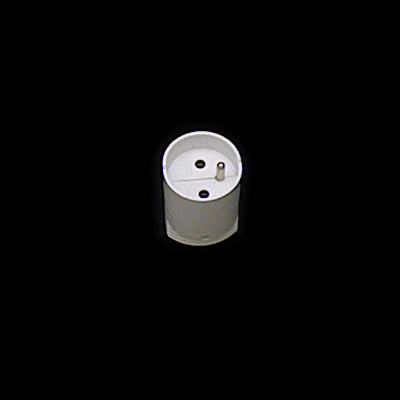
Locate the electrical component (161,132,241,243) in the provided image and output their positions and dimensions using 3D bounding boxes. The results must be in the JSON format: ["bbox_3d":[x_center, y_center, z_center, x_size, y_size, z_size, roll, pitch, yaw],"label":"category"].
[{"bbox_3d":[0.000,0.000,0.618,0.043,0.043,0.081,0,-27,-1],"label":"electrical component"}]
